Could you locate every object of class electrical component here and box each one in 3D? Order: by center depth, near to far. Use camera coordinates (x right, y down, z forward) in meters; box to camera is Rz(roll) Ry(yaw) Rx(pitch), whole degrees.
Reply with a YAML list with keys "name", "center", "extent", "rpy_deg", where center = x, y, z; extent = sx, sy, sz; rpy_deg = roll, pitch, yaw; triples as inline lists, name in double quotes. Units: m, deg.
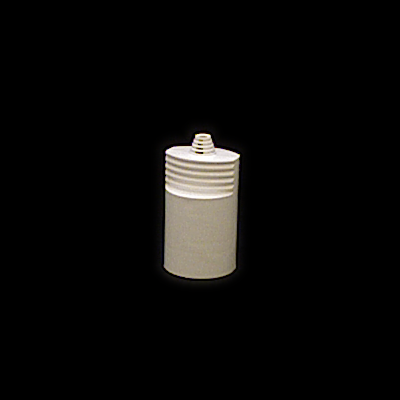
- name: "electrical component"
  center: [0.000, 0.000, 0.635]
  extent: [0.043, 0.082, 0.042]
  rpy_deg: [1, 21, 0]
